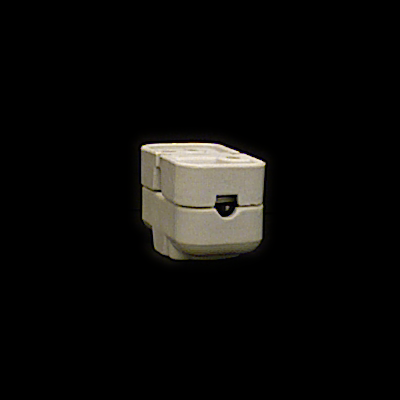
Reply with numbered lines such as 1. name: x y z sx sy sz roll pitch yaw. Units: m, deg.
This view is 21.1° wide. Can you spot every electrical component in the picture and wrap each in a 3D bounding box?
1. electrical component: 0.000 0.000 0.649 0.054 0.060 0.094 -3 12 -19
